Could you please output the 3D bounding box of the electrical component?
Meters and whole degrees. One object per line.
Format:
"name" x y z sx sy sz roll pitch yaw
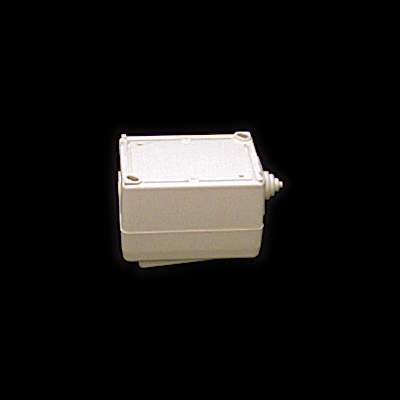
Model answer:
"electrical component" 0.000 0.000 0.633 0.096 0.061 0.061 -1 32 -5
